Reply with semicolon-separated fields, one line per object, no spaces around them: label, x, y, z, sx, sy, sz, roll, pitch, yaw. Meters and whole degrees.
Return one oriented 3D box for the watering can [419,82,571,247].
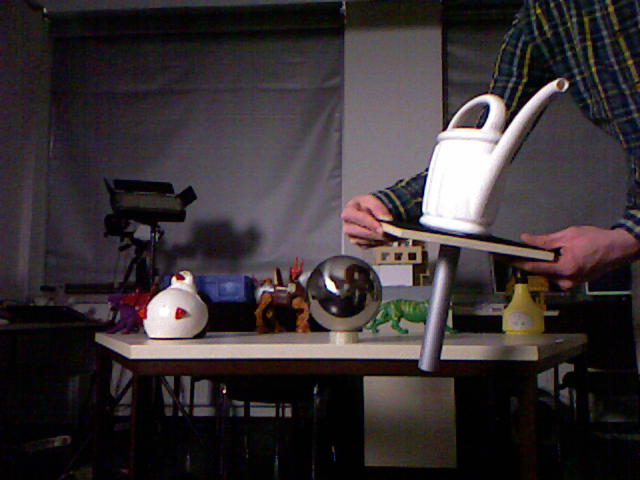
watering can;0.218;-0.096;0.711;0.104;0.224;0.350;8;6;-6
